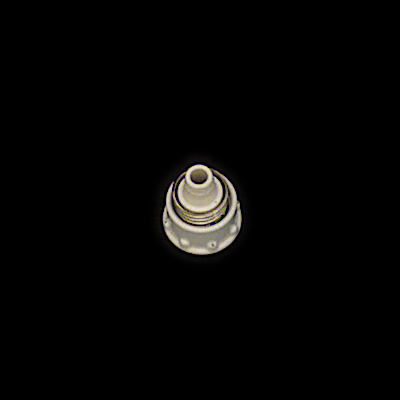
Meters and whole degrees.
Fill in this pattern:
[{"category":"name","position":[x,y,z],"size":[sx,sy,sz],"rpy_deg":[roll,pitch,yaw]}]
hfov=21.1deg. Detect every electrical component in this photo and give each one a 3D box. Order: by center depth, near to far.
[{"category":"electrical component","position":[0.000,0.000,0.633],"size":[0.048,0.048,0.062],"rpy_deg":[0,-27,1]}]
